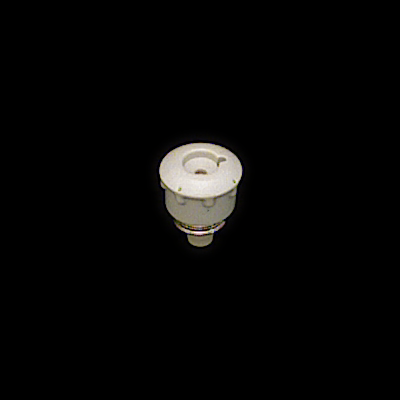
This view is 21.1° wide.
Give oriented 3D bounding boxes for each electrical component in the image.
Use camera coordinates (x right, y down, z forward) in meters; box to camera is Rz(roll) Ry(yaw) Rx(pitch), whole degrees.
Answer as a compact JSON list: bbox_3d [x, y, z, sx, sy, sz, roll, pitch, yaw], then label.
[{"bbox_3d":[0.000,0.000,0.639,0.048,0.062,0.047,1,43,0],"label":"electrical component"}]
